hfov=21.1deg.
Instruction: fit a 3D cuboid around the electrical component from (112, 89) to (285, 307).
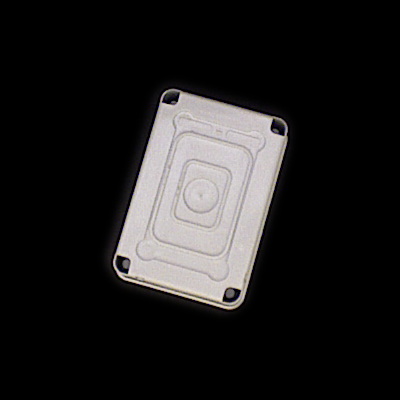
[{"bbox_3d":[0.000,0.000,0.628,0.078,0.113,0.057,16,-7,2],"label":"electrical component"}]
